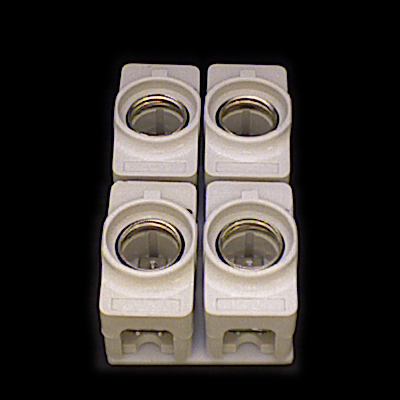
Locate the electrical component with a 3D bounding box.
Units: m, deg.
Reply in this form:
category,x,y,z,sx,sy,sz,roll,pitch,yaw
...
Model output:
category,x,y,z,sx,sy,sz,roll,pitch,yaw
electrical component,0.000,0.000,0.627,0.105,0.185,0.060,1,-38,0
